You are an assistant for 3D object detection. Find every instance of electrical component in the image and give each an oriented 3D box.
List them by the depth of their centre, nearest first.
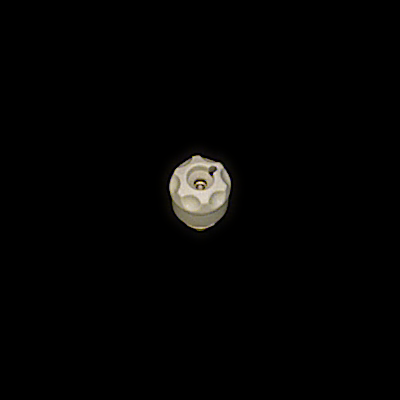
[{"bbox_3d":[0.000,0.000,0.634,0.035,0.035,0.061,0,-27,0],"label":"electrical component"}]
